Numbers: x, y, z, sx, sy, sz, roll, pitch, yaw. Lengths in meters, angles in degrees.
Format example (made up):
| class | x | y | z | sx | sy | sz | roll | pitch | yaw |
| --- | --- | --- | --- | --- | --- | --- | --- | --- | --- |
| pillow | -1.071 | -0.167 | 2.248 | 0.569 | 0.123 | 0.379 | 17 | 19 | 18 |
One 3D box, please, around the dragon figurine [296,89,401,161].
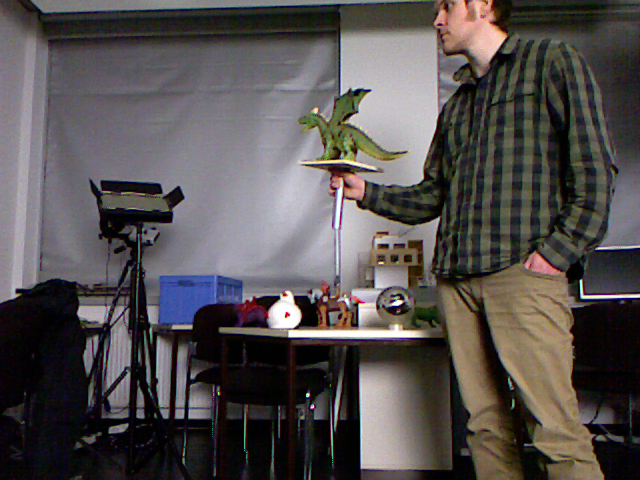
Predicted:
| class | x | y | z | sx | sy | sz | roll | pitch | yaw |
| --- | --- | --- | --- | --- | --- | --- | --- | --- | --- |
| dragon figurine | 0.090 | -0.366 | 1.657 | 0.412 | 0.243 | 0.122 | 5 | 2 | 37 |
